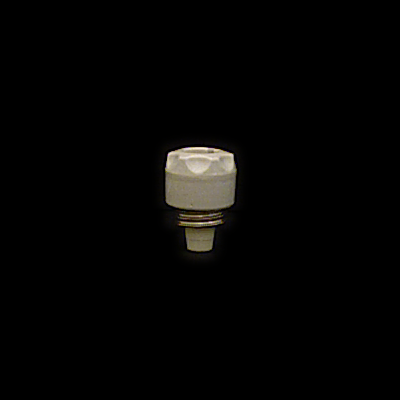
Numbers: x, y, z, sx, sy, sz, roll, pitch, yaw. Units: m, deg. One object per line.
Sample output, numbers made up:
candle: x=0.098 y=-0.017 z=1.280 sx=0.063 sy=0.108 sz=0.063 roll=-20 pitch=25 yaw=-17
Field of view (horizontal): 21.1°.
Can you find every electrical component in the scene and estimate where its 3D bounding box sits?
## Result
electrical component: x=0.000 y=0.000 z=0.650 sx=0.043 sy=0.062 sz=0.043 roll=1 pitch=13 yaw=0
